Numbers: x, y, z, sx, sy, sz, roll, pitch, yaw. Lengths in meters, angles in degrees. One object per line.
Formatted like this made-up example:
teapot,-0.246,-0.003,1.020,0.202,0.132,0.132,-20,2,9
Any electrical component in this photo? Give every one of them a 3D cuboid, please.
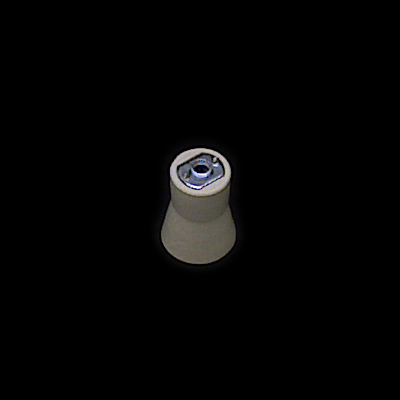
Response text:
electrical component,0.000,0.000,0.625,0.044,0.044,0.065,0,-37,-2
